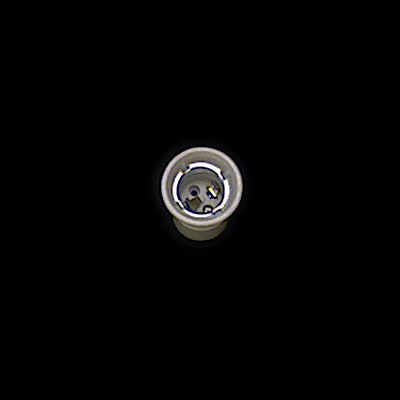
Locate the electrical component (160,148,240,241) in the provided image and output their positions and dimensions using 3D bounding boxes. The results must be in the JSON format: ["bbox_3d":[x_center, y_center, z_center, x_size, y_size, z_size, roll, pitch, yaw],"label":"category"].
[{"bbox_3d":[0.000,0.000,0.623,0.044,0.044,0.065,0,-16,-1],"label":"electrical component"}]
